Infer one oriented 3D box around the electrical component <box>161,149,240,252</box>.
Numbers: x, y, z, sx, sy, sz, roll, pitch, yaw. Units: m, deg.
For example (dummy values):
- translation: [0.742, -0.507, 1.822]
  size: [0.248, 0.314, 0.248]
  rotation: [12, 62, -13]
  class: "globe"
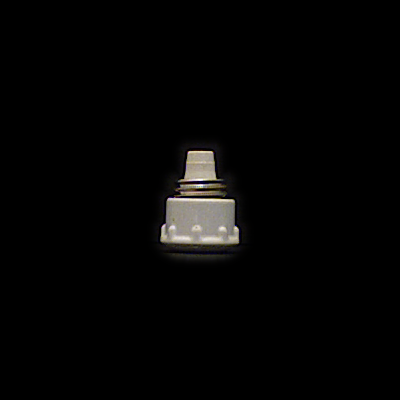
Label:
- translation: [0.000, 0.000, 0.654]
  size: [0.048, 0.062, 0.048]
  rotation: [0, 2, 1]
  class: "electrical component"
